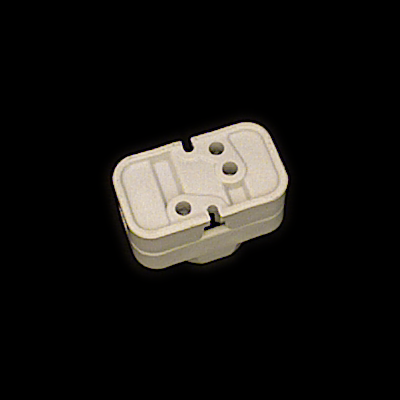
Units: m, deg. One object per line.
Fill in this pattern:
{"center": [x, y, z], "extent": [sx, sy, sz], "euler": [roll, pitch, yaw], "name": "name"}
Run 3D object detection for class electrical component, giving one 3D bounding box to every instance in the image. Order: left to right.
{"center": [0.000, 0.000, 0.635], "extent": [0.095, 0.053, 0.059], "euler": [-18, -26, -8], "name": "electrical component"}
